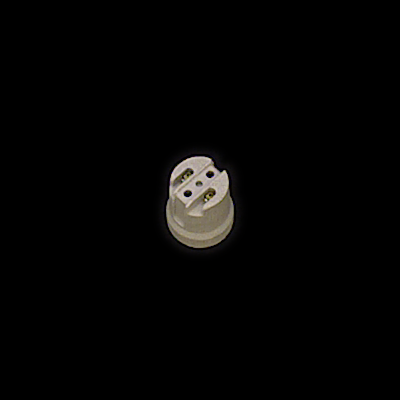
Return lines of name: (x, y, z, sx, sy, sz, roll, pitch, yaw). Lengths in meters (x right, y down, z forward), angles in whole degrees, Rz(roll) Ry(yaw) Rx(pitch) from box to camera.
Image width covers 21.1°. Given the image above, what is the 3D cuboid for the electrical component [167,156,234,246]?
electrical component: (0.000, 0.000, 0.633, 0.040, 0.040, 0.046, 0, -27, 0)
